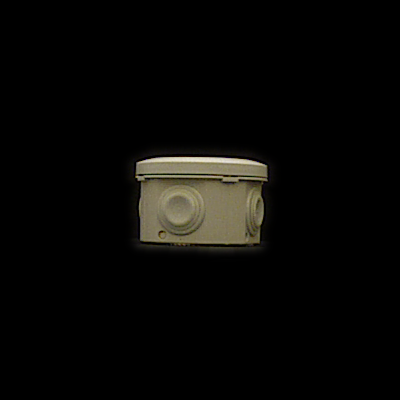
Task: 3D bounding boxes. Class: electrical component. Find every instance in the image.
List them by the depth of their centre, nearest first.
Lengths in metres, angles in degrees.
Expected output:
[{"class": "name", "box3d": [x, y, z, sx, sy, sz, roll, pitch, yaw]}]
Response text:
[{"class": "electrical component", "box3d": [0.000, 0.000, 0.652, 0.080, 0.051, 0.080, 1, 0, 0]}]
